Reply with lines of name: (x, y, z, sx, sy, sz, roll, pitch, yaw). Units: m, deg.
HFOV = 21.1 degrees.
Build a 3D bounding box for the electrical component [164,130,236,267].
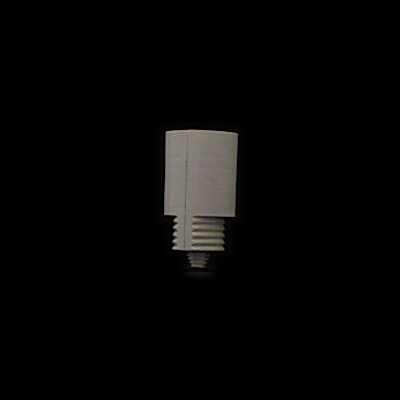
electrical component: (0.000, 0.000, 0.647, 0.043, 0.081, 0.043, 0, 1, 0)
